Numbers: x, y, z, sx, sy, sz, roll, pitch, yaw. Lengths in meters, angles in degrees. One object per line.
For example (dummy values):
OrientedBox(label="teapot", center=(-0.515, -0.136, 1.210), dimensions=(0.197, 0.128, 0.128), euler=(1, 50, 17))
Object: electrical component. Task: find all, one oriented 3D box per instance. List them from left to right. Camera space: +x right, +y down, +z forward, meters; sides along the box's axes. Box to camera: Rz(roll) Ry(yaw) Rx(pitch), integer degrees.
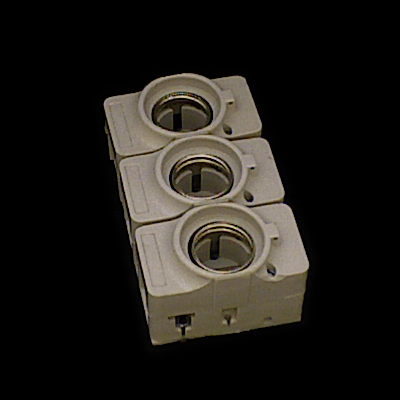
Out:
OrientedBox(label="electrical component", center=(0.000, 0.000, 0.634), dimensions=(0.089, 0.148, 0.062), euler=(-10, -36, -9))
